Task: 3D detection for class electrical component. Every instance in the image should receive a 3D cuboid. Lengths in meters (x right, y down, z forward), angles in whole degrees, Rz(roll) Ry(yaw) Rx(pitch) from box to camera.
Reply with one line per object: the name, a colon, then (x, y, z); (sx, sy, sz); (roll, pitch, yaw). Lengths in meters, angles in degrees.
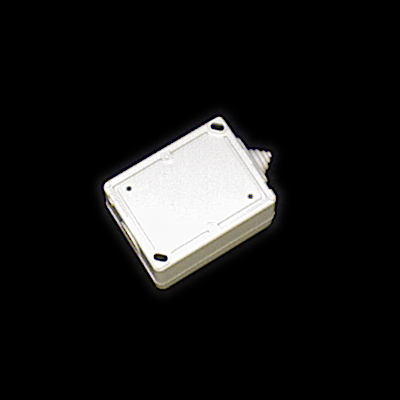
electrical component: (0.000, 0.000, 0.627); (0.096, 0.062, 0.061); (-31, -15, -9)
